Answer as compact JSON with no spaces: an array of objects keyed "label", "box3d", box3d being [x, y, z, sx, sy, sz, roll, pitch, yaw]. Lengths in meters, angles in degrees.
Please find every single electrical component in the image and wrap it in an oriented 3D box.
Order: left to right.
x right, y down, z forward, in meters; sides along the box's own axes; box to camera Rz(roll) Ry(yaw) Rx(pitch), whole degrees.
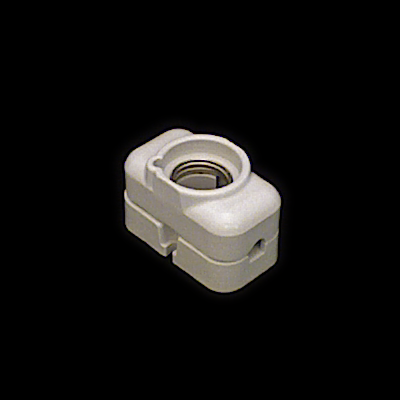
[{"label":"electrical component","box3d":[0.000,0.000,0.637,0.094,0.060,0.054,34,52,31]}]
